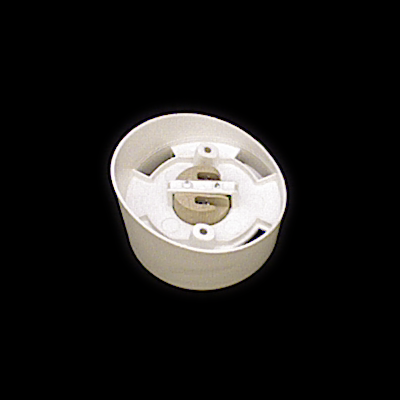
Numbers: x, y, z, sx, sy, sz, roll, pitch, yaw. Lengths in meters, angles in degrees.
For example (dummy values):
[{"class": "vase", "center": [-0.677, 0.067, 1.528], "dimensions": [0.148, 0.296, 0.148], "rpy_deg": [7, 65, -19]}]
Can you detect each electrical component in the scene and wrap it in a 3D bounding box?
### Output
[{"class": "electrical component", "center": [0.000, 0.000, 0.625], "dimensions": [0.099, 0.098, 0.064], "rpy_deg": [0, -37, 0]}]
